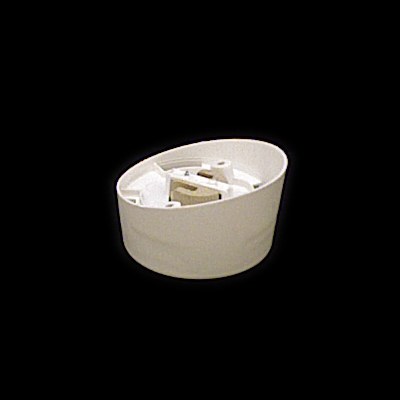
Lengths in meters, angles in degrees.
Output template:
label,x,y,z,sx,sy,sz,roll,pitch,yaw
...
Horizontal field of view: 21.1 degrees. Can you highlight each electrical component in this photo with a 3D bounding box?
label,x,y,z,sx,sy,sz,roll,pitch,yaw
electrical component,0.000,0.000,0.633,0.099,0.065,0.097,2,31,-1
